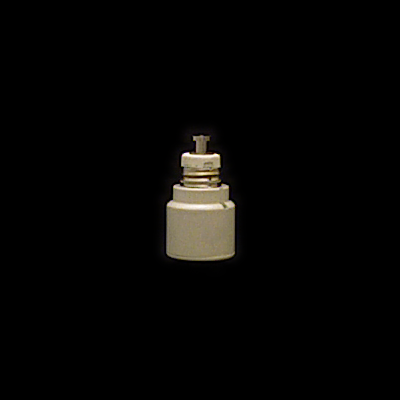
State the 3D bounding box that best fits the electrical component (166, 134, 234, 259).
[{"bbox_3d":[0.000,0.000,0.641,0.040,0.079,0.040,0,11,0],"label":"electrical component"}]
